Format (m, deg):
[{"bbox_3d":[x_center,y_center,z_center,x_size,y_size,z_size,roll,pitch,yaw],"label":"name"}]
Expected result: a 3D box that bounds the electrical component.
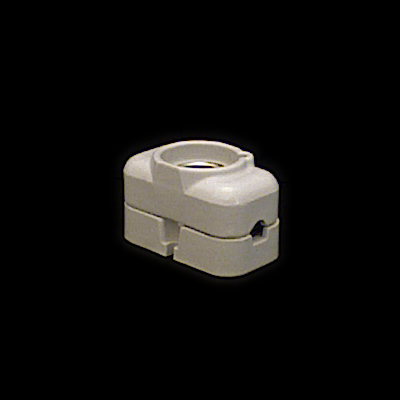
[{"bbox_3d":[0.000,0.000,0.647,0.094,0.060,0.054,20,29,38],"label":"electrical component"}]
